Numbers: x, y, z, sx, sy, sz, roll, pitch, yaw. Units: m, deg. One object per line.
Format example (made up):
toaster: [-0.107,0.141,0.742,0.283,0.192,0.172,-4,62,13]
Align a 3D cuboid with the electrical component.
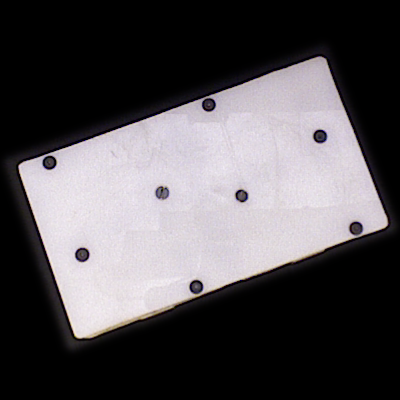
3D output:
electrical component: [0.000,0.000,0.626,0.186,0.106,0.060,-20,-7,-2]
